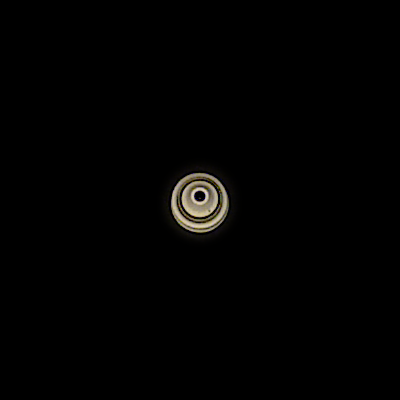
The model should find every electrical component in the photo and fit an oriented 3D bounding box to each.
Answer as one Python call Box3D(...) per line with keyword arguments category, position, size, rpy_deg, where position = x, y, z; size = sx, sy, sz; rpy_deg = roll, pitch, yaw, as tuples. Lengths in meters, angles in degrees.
Box3D(category="electrical component", position=(0.000, 0.000, 0.637), size=(0.035, 0.035, 0.061), rpy_deg=(0, -5, -1))
